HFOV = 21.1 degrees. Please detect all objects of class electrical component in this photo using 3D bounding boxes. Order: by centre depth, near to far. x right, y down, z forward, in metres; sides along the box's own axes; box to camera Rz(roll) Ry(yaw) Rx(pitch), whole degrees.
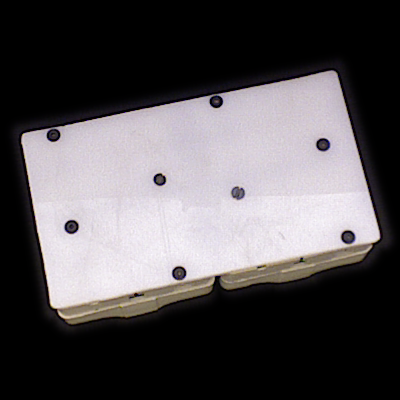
[{"bbox_3d":[0.000,0.000,0.625,0.186,0.106,0.060,-12,-16,-4],"label":"electrical component"}]
